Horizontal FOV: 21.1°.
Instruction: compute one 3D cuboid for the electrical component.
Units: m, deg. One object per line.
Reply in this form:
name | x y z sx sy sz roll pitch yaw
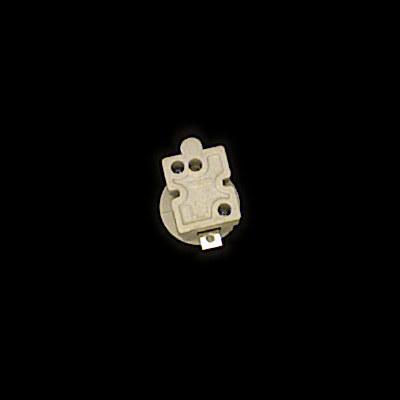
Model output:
electrical component | 0.000 0.000 0.637 0.048 0.066 0.055 -12 -15 -4
